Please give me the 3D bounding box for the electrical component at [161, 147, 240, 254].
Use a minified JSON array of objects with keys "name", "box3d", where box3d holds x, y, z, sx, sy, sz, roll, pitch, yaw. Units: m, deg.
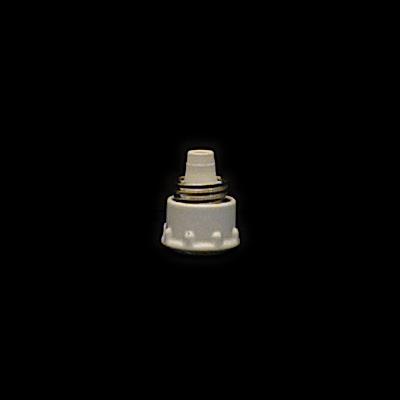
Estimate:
[{"name":"electrical component","box3d":[0.000,0.000,0.649,0.048,0.062,0.048,0,12,1]}]
